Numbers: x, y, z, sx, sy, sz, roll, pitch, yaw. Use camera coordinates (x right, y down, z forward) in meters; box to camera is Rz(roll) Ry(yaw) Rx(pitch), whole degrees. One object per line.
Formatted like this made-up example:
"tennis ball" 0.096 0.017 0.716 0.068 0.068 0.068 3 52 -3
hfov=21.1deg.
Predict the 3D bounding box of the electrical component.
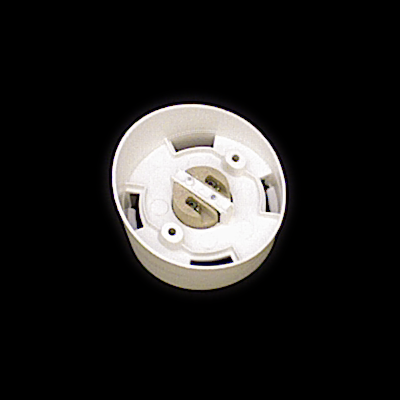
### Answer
"electrical component" 0.000 0.000 0.624 0.099 0.099 0.064 0 -28 1
